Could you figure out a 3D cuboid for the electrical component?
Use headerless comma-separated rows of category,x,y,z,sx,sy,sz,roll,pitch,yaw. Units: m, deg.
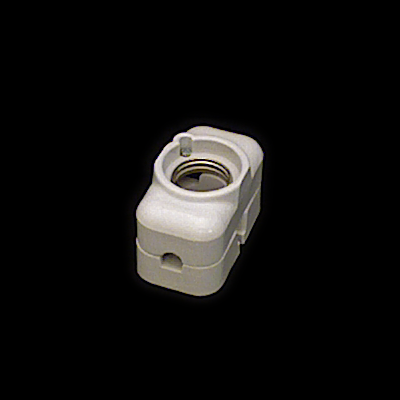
electrical component,0.000,0.000,0.638,0.053,0.060,0.095,14,44,14
